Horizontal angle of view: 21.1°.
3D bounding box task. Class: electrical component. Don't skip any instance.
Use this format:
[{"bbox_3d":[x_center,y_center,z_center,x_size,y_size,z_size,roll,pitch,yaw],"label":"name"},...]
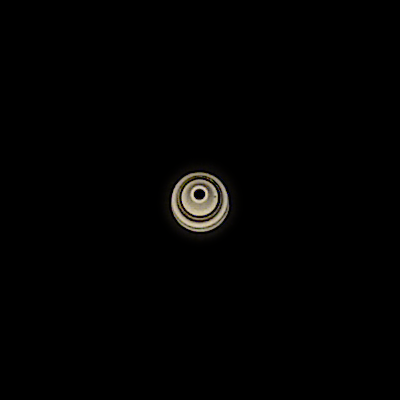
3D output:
[{"bbox_3d":[0.000,0.000,0.637,0.035,0.035,0.061,0,-6,0],"label":"electrical component"}]
